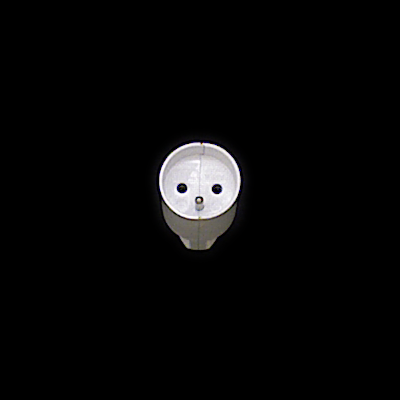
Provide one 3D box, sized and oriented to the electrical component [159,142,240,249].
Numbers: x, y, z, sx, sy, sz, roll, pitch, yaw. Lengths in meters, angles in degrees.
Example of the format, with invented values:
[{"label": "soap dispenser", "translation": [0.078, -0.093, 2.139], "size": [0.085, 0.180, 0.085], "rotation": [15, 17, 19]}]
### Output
[{"label": "electrical component", "translation": [0.000, 0.000, 0.615], "size": [0.043, 0.043, 0.080], "rotation": [0, -16, 1]}]
